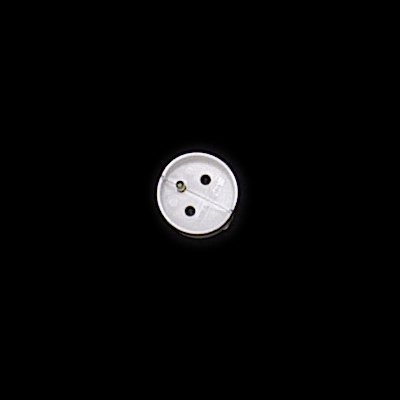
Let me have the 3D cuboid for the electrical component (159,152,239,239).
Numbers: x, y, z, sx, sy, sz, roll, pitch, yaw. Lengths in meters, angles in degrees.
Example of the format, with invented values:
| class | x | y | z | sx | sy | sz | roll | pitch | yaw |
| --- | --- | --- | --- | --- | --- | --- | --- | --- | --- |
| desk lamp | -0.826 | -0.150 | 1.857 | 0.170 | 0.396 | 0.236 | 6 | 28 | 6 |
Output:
| class | x | y | z | sx | sy | sz | roll | pitch | yaw |
| --- | --- | --- | --- | --- | --- | --- | --- | --- | --- |
| electrical component | 0.000 | 0.000 | 0.615 | 0.043 | 0.043 | 0.080 | 0 | -7 | 1 |
